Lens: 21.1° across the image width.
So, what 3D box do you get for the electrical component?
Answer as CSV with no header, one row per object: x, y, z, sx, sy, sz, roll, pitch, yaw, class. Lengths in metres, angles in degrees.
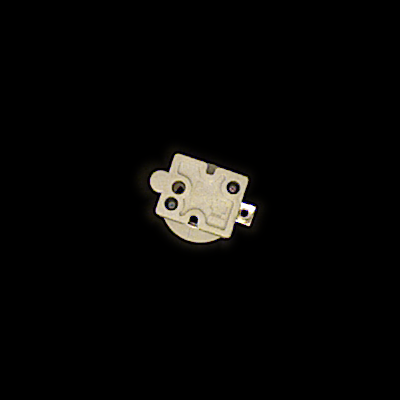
0.000,0.000,0.639,0.066,0.048,0.055,19,-6,2,electrical component
